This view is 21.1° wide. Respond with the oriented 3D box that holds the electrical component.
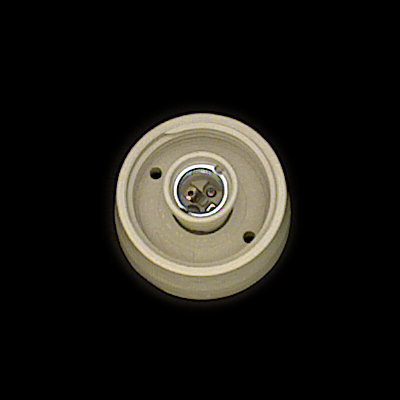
[{"bbox_3d":[0.000,0.000,0.634,0.108,0.108,0.060,0,-16,0],"label":"electrical component"}]
